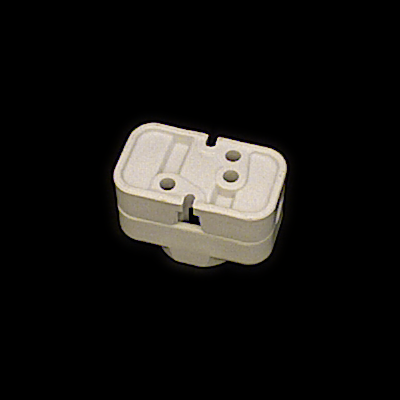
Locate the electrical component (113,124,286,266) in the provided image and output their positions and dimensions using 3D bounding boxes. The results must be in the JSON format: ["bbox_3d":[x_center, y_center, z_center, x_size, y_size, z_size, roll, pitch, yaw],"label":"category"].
[{"bbox_3d":[0.000,0.000,0.637,0.095,0.053,0.059,13,-36,10],"label":"electrical component"}]
